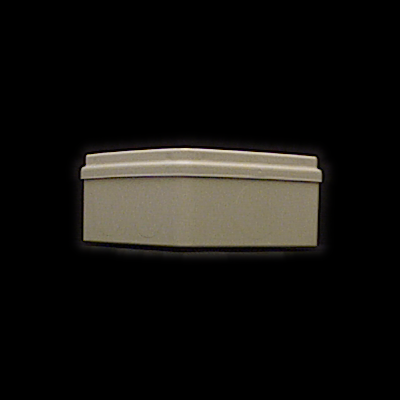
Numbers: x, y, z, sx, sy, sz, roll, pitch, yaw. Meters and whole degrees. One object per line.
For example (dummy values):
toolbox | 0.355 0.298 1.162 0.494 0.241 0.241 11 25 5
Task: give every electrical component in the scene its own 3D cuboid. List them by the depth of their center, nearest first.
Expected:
electrical component | 0.000 0.000 0.650 0.109 0.056 0.108 1 0 -39
